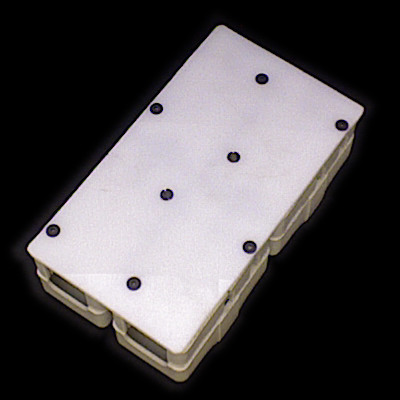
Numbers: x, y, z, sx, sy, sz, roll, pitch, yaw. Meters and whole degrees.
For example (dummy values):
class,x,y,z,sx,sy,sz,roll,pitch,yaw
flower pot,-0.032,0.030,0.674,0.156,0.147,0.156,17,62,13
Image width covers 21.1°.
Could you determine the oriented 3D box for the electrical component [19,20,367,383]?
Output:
class,x,y,z,sx,sy,sz,roll,pitch,yaw
electrical component,0.000,0.000,0.625,0.105,0.187,0.060,32,-22,15
